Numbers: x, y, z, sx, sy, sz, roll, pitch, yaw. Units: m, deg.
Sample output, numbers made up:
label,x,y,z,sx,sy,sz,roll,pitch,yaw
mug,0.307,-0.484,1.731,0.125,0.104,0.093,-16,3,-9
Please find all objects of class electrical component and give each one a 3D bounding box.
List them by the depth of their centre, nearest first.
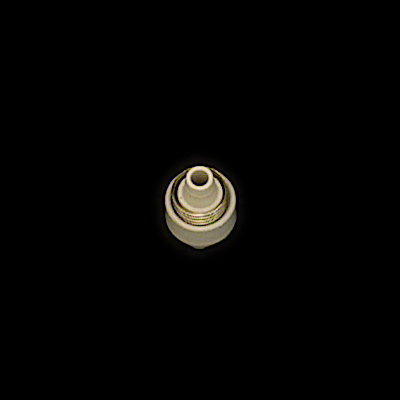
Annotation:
label,x,y,z,sx,sy,sz,roll,pitch,yaw
electrical component,0.000,0.000,0.633,0.043,0.043,0.062,0,-25,1
